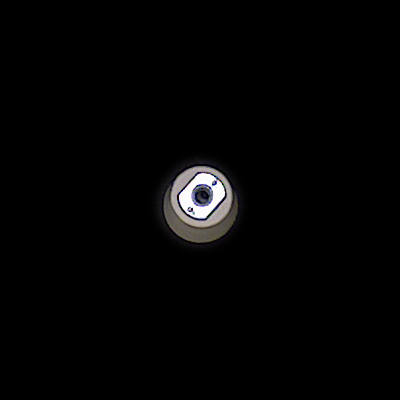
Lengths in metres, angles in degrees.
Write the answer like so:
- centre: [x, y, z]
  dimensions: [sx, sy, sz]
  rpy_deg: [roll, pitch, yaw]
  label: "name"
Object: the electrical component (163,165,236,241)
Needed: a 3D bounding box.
- centre: [0.000, 0.000, 0.625]
  dimensions: [0.044, 0.044, 0.065]
  rpy_deg: [0, -6, 0]
  label: "electrical component"
